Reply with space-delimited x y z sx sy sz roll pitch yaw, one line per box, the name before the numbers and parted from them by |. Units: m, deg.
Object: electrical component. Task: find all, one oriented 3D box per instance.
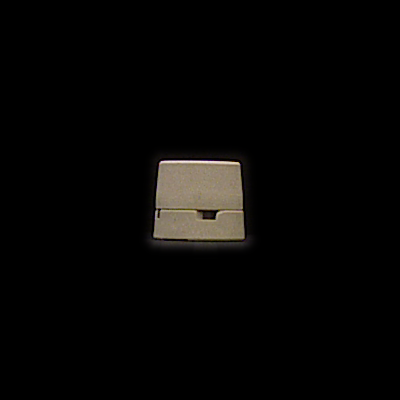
electrical component | 0.000 0.000 0.649 0.055 0.047 0.055 0 1 0
